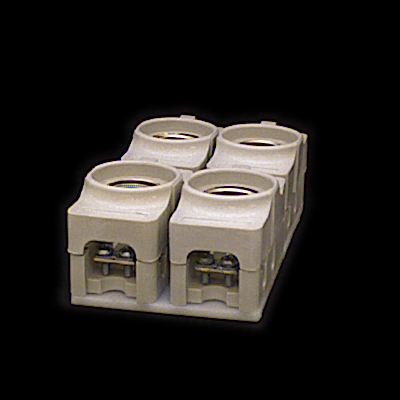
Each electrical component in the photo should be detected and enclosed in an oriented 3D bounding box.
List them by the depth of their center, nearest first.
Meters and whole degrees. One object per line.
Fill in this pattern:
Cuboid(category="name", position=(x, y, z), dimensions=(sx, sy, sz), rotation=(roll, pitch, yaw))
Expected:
Cuboid(category="electrical component", position=(0.000, 0.000, 0.639), dimensions=(0.105, 0.061, 0.184), rotation=(5, 20, 11))
